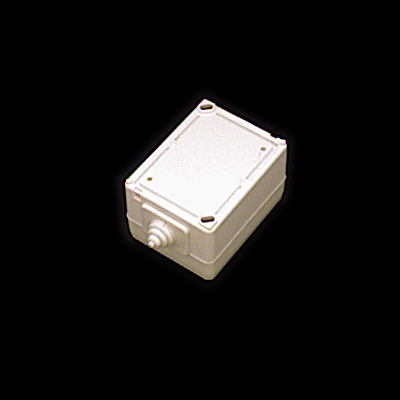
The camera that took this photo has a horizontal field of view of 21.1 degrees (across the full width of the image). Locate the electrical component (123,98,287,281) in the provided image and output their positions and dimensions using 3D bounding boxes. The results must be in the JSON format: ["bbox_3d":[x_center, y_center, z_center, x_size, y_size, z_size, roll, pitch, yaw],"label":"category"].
[{"bbox_3d":[0.000,0.000,0.629,0.061,0.096,0.061,29,-32,21],"label":"electrical component"}]
